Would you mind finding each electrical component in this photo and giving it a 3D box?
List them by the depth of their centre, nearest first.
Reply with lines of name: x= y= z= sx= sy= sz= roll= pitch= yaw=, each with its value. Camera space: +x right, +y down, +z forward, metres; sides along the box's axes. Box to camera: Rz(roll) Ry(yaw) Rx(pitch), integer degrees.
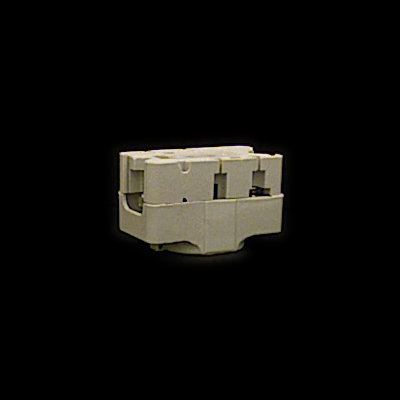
electrical component: x=0.000 y=0.000 z=0.651 sx=0.090 sy=0.056 sz=0.049 roll=-5 pitch=14 yaw=-28
